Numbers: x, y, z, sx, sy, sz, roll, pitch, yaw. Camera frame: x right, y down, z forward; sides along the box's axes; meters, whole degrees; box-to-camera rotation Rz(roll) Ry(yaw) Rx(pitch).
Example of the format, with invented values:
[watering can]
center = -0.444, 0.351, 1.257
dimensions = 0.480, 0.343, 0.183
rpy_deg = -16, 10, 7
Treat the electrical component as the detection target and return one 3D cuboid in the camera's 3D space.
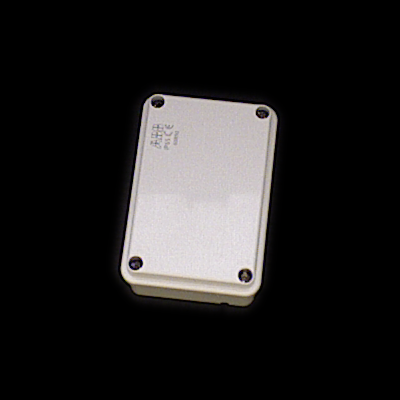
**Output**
[electrical component]
center = 0.000, 0.000, 0.627
dimensions = 0.078, 0.113, 0.057
rpy_deg = 6, -16, 2
